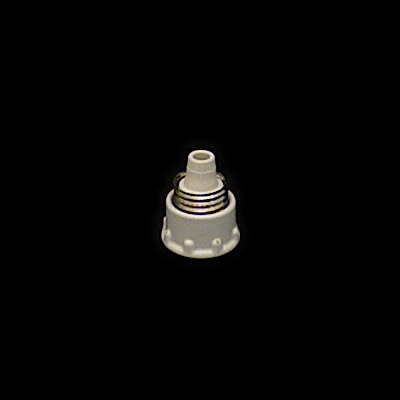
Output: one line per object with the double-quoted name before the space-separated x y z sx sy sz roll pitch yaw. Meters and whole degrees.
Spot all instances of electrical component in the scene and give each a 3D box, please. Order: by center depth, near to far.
"electrical component" 0.000 0.000 0.642 0.048 0.063 0.047 1 31 0
